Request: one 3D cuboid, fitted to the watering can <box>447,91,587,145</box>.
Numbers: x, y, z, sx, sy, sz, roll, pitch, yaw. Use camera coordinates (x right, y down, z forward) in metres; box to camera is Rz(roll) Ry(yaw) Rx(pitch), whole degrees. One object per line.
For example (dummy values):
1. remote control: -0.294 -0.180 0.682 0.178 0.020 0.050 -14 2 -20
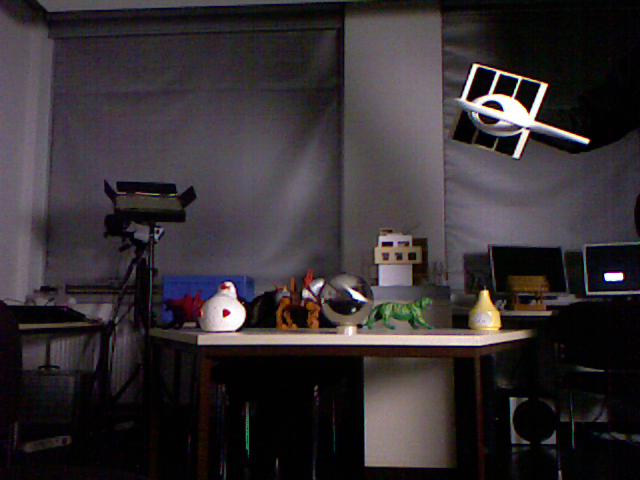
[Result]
1. watering can: 0.502 -0.319 1.356 0.349 0.102 0.228 20 22 7
